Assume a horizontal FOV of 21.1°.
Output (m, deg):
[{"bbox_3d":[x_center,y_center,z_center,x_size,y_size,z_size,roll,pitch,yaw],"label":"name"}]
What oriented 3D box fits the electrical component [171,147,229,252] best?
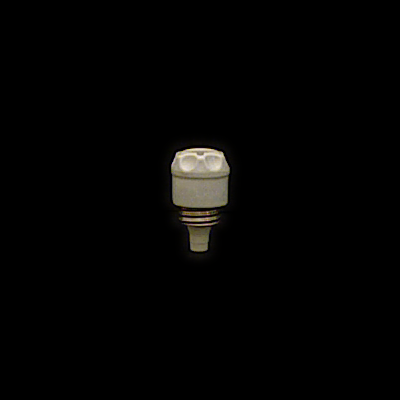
[{"bbox_3d":[0.000,0.000,0.649,0.035,0.062,0.035,1,12,0],"label":"electrical component"}]
